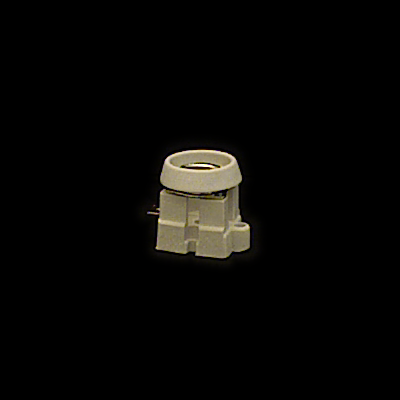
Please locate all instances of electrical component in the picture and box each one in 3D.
[{"bbox_3d":[0.000,0.000,0.646,0.066,0.056,0.048,7,21,14],"label":"electrical component"}]
